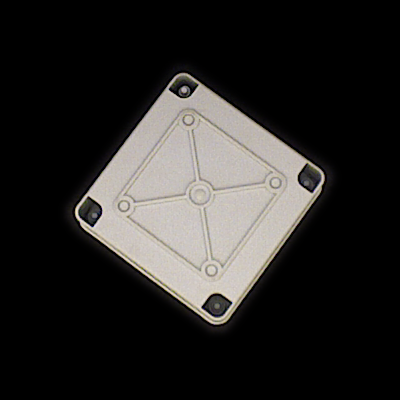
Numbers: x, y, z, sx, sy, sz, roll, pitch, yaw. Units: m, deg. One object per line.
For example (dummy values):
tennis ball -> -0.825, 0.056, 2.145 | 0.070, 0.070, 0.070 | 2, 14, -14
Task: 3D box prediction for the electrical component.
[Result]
electrical component -> 0.000, 0.000, 0.629 | 0.109, 0.109, 0.056 | 36, -6, 4
